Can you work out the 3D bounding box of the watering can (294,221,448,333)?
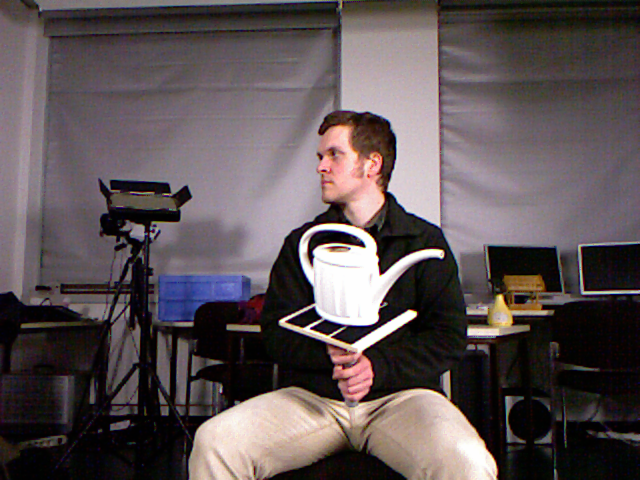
[{"bbox_3d":[0.084,0.080,0.999,0.349,0.221,0.105,11,24,39],"label":"watering can"}]
